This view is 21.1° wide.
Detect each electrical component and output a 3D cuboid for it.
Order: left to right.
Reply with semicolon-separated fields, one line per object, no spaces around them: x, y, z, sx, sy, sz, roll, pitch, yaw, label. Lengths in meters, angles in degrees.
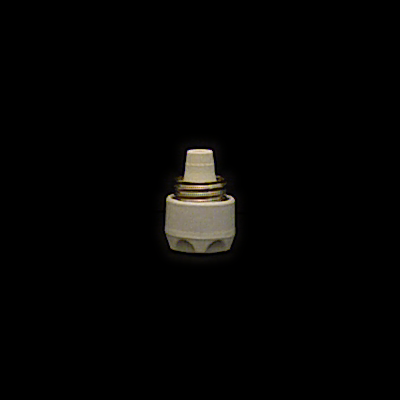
0.000;0.000;0.652;0.043;0.062;0.043;0;11;1;electrical component
